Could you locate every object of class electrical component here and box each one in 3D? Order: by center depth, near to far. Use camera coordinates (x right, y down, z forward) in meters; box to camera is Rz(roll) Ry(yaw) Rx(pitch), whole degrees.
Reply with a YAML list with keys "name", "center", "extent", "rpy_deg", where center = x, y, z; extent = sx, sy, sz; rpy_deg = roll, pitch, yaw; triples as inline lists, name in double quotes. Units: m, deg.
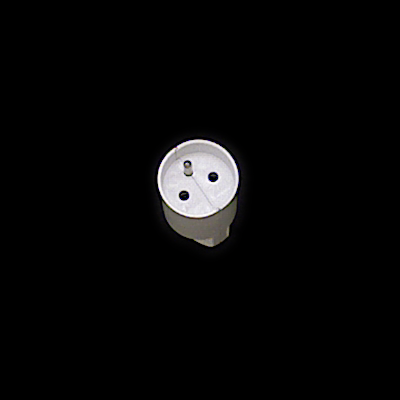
- name: "electrical component"
  center: [0.000, 0.000, 0.615]
  extent: [0.043, 0.043, 0.080]
  rpy_deg: [0, -17, 0]
